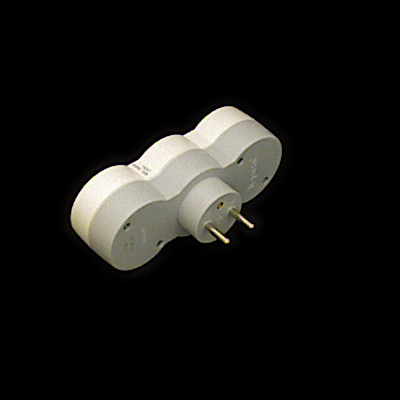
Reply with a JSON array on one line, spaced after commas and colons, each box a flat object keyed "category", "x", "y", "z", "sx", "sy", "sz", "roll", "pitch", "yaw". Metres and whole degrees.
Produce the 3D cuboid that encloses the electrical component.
[{"category": "electrical component", "x": 0.000, "y": 0.000, "z": 0.638, "sx": 0.139, "sy": 0.052, "sz": 0.073, "roll": -30, "pitch": 53, "yaw": -30}]
